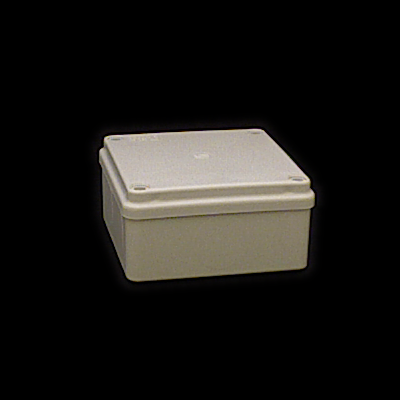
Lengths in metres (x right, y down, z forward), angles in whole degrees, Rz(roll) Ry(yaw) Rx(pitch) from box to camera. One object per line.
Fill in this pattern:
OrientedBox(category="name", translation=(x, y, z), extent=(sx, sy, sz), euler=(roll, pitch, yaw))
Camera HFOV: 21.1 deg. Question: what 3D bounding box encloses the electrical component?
OrientedBox(category="electrical component", translation=(0.000, 0.000, 0.638), extent=(0.109, 0.057, 0.107), euler=(-4, 22, -12))
